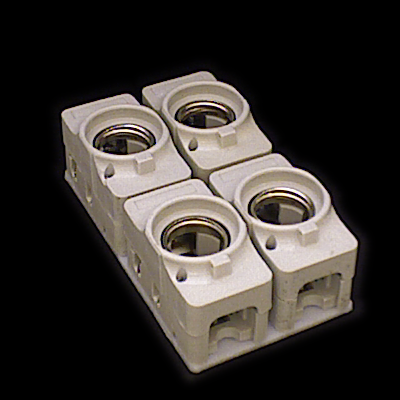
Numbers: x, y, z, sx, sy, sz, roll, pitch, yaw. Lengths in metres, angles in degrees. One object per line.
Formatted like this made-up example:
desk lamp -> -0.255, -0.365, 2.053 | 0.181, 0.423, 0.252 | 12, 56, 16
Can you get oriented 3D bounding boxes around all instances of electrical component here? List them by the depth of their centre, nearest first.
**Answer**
electrical component -> 0.000, 0.000, 0.630 | 0.105, 0.061, 0.184 | -19, 46, -20
